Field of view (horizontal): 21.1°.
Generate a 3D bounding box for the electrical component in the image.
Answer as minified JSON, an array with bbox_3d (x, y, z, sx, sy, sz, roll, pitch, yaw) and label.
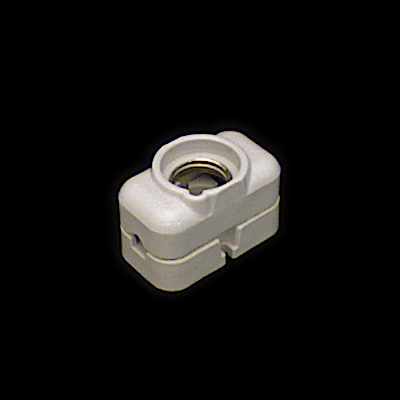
[{"bbox_3d":[0.000,0.000,0.637,0.095,0.060,0.053,-30,50,-28],"label":"electrical component"}]
